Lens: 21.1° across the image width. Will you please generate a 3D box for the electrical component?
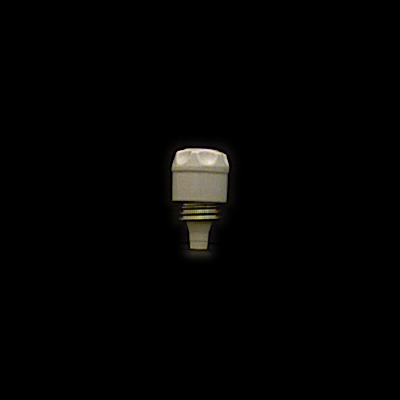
[{"bbox_3d":[0.000,0.000,0.659,0.035,0.061,0.035,1,1,0],"label":"electrical component"}]
